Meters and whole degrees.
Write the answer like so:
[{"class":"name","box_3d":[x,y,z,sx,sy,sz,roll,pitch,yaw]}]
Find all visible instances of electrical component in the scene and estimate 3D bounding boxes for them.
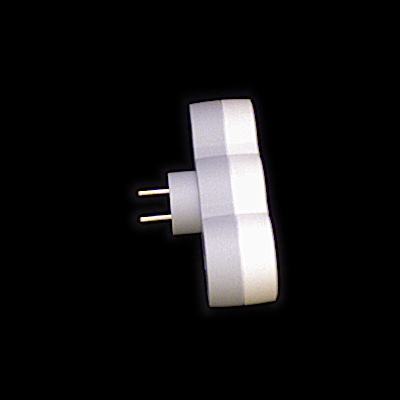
[{"class":"electrical component","box_3d":[0.000,0.000,0.630,0.074,0.138,0.052,-5,-36,-2]}]
